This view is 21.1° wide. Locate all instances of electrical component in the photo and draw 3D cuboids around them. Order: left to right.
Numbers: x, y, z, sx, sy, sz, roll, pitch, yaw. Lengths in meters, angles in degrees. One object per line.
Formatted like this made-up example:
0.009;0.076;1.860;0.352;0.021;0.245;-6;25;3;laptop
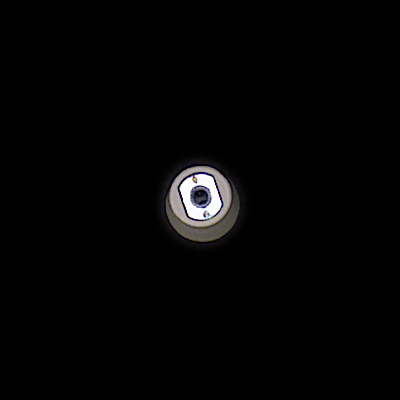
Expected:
0.000;0.000;0.626;0.044;0.044;0.065;0;-5;2;electrical component
